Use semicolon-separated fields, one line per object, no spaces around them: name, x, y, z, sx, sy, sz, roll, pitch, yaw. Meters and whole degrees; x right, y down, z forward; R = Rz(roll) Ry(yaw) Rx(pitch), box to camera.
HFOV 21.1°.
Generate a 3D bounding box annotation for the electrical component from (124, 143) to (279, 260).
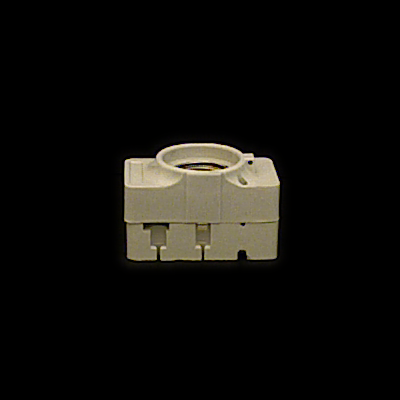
electrical component;0.000;0.000;0.646;0.090;0.056;0.049;-1;22;-4
